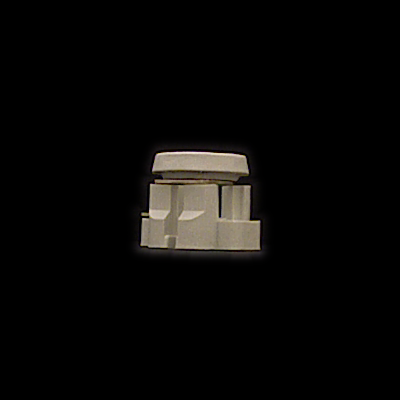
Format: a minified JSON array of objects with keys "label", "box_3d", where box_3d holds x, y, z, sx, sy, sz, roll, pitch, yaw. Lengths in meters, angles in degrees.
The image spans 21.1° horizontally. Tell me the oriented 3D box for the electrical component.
[{"label":"electrical component","box_3d":[0.000,0.000,0.650,0.078,0.057,0.058,2,1,39]}]
